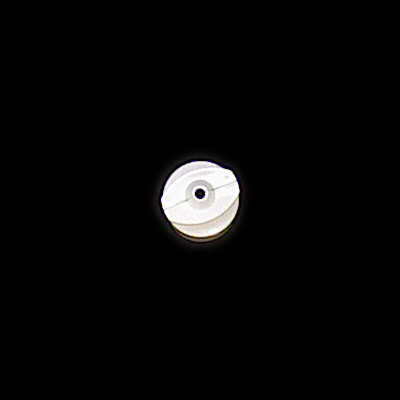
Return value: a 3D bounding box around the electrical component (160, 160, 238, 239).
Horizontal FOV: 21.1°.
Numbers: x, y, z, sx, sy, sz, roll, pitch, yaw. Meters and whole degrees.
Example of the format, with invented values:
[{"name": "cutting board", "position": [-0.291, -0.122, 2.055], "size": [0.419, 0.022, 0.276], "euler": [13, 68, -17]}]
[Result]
[{"name": "electrical component", "position": [0.000, 0.000, 0.616], "size": [0.043, 0.043, 0.080], "euler": [0, -6, 1]}]
